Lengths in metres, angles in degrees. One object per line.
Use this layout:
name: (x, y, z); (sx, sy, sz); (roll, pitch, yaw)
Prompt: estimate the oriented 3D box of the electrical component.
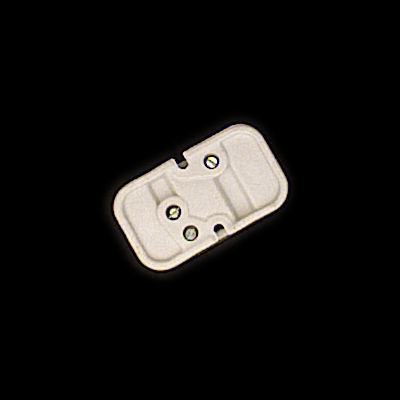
electrical component: (0.000, 0.000, 0.636); (0.095, 0.054, 0.059); (-29, -5, -3)
